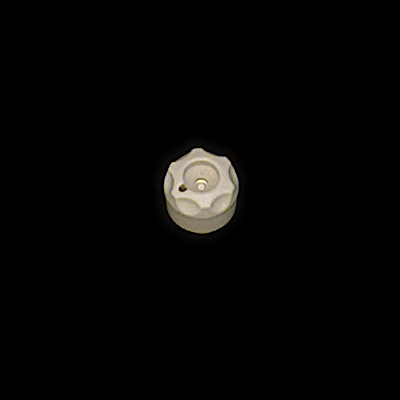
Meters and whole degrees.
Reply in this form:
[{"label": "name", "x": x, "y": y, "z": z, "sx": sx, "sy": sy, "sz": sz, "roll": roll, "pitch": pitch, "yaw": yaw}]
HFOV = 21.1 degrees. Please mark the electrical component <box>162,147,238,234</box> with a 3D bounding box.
[{"label": "electrical component", "x": 0.000, "y": 0.000, "z": 0.635, "sx": 0.043, "sy": 0.043, "sz": 0.062, "roll": 0, "pitch": -27, "yaw": 0}]
